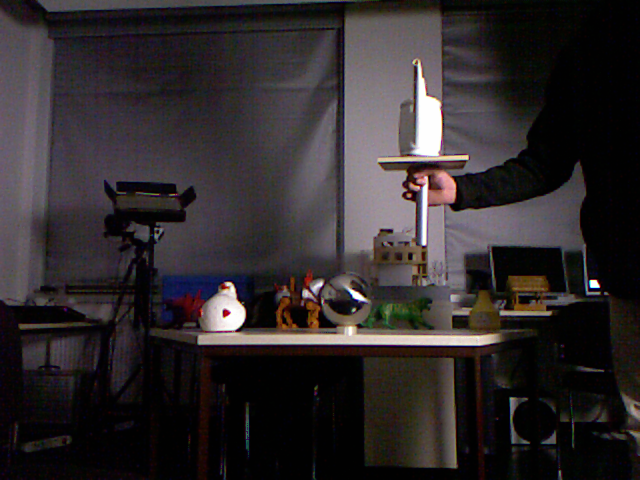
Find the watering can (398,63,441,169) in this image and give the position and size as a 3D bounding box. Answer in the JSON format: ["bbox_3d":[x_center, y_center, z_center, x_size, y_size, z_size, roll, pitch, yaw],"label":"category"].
[{"bbox_3d":[0.238,-0.287,1.242,0.104,0.224,0.349,1,2,15],"label":"watering can"}]
